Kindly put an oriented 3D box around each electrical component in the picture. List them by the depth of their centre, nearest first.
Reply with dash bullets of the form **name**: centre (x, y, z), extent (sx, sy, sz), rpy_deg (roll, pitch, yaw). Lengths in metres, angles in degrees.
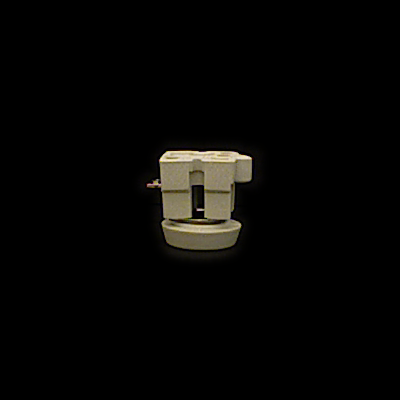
- **electrical component**: centre (0.000, 0.000, 0.652), extent (0.066, 0.056, 0.048), rpy_deg (1, 13, 6)
